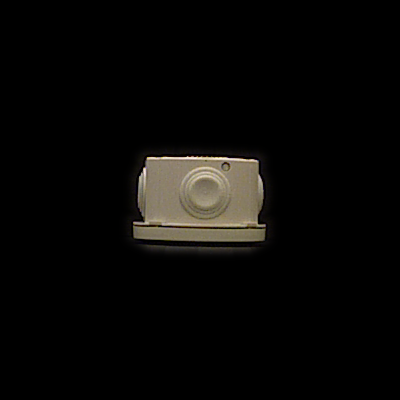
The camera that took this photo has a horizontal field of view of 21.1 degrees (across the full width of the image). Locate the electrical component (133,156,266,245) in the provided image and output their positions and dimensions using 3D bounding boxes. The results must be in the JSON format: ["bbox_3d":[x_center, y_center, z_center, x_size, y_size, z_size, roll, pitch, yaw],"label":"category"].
[{"bbox_3d":[0.000,0.000,0.648,0.080,0.051,0.080,1,1,0],"label":"electrical component"}]
